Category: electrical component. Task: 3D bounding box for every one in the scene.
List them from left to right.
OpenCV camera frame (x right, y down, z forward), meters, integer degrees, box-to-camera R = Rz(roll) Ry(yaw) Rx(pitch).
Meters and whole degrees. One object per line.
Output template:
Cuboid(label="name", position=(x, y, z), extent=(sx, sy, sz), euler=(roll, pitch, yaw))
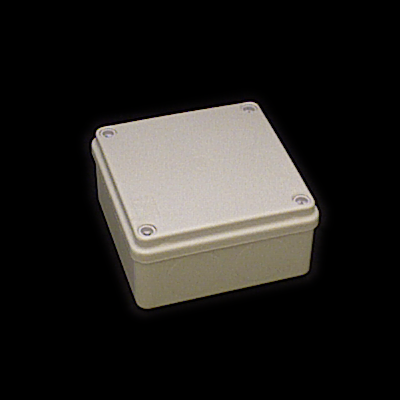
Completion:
Cuboid(label="electrical component", position=(0.000, 0.000, 0.633), extent=(0.109, 0.057, 0.107), euler=(-11, 43, -14))
